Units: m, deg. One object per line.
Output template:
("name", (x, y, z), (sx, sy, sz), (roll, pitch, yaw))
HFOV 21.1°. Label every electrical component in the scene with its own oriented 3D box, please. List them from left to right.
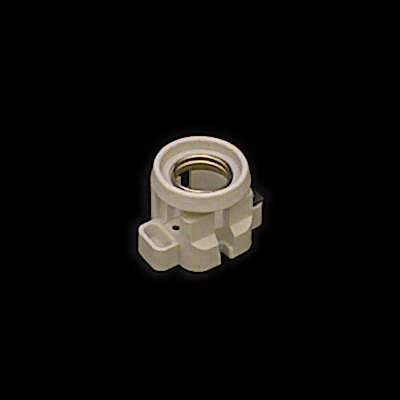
("electrical component", (0.000, 0.000, 0.633), (0.078, 0.057, 0.057), (-24, 48, -25))
